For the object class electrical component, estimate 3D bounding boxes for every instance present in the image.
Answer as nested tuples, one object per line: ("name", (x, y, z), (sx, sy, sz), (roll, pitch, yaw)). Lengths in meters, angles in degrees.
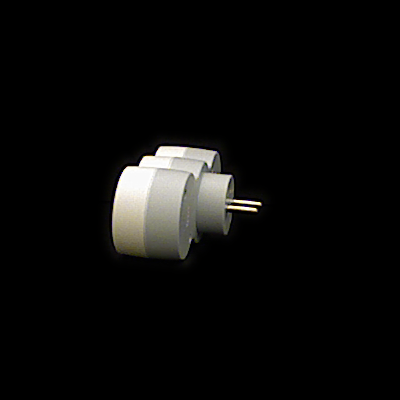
("electrical component", (0.000, 0.000, 0.650), (0.073, 0.052, 0.137), (5, 11, 10))
